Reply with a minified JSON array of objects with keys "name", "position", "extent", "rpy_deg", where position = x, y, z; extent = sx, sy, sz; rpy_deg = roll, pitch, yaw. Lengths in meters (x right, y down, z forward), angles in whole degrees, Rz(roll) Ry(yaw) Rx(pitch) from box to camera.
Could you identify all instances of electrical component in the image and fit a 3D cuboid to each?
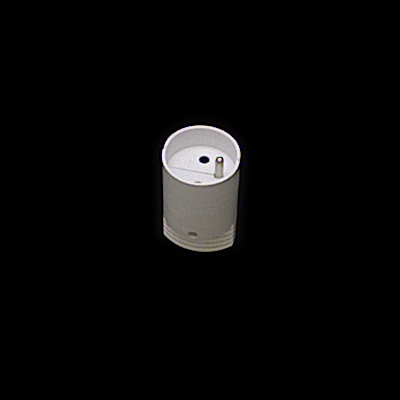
[{"name":"electrical component","position":[0.000,0.000,0.620],"extent":[0.043,0.043,0.081],"rpy_deg":[0,-37,-1]}]
